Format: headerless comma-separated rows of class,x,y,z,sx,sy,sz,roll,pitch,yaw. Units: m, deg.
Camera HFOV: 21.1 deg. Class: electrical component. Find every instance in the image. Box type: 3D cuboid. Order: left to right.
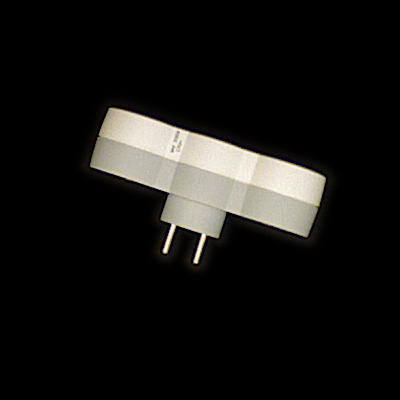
electrical component,0.000,0.000,0.639,0.138,0.074,0.052,18,-4,2
